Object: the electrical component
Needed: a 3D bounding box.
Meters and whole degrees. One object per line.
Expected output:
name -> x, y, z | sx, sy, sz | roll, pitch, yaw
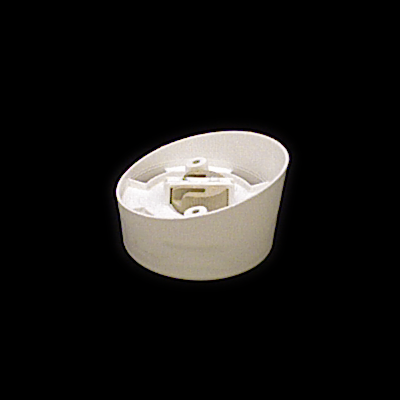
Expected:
electrical component -> 0.000, 0.000, 0.634 | 0.099, 0.065, 0.097 | 2, 30, -1
